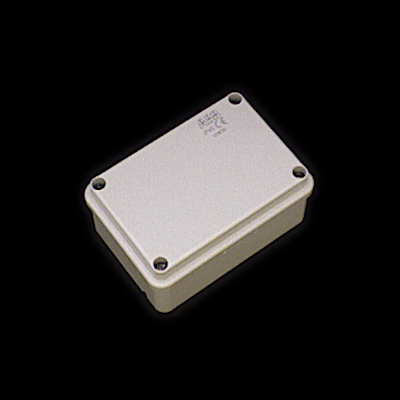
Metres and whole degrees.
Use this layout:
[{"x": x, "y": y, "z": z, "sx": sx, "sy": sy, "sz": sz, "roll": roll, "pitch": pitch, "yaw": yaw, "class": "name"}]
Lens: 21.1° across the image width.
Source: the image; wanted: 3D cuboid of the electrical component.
[{"x": 0.000, "y": 0.000, "z": 0.628, "sx": 0.113, "sy": 0.078, "sz": 0.057, "roll": -33, "pitch": -22, "yaw": -16, "class": "electrical component"}]
